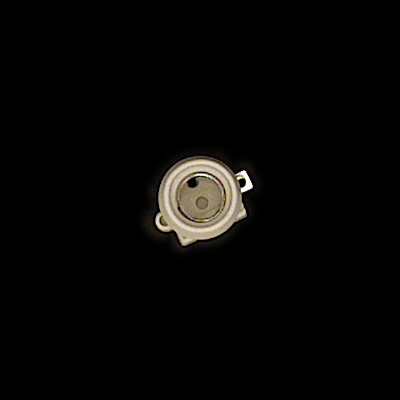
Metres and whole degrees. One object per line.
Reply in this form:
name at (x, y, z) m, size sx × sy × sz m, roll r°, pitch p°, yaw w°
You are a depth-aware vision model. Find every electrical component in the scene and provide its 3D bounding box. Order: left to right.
electrical component at (0.000, 0.000, 0.639) m, size 0.066 × 0.048 × 0.055 m, roll -27°, pitch -4°, yaw -2°
